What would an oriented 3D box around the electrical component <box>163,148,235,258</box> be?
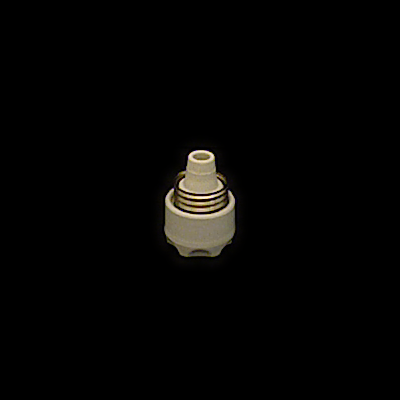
[{"bbox_3d":[0.000,0.000,0.642,0.043,0.063,0.043,1,31,0],"label":"electrical component"}]
